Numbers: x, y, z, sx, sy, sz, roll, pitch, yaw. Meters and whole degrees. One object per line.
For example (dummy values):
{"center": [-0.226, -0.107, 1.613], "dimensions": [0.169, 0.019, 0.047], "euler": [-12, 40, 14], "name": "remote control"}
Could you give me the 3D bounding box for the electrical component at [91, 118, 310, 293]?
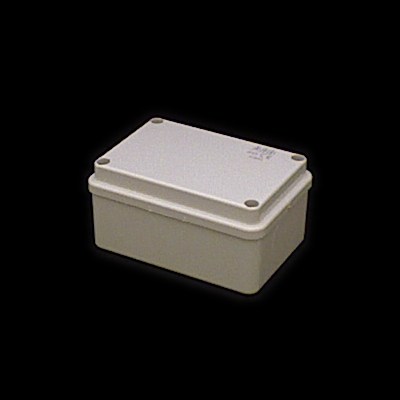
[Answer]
{"center": [0.000, 0.000, 0.636], "dimensions": [0.112, 0.058, 0.077], "euler": [16, 34, 24], "name": "electrical component"}
